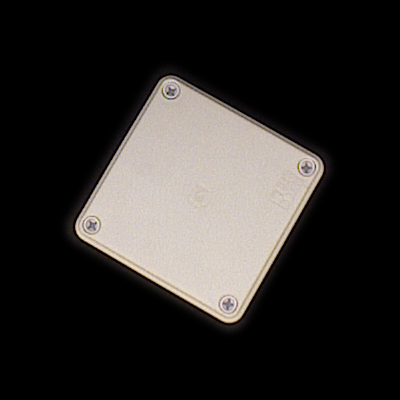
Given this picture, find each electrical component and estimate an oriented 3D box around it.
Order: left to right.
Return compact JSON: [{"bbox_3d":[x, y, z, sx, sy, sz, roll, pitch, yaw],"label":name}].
[{"bbox_3d":[0.000,0.000,0.631,0.109,0.109,0.056,30,-5,4],"label":"electrical component"}]
